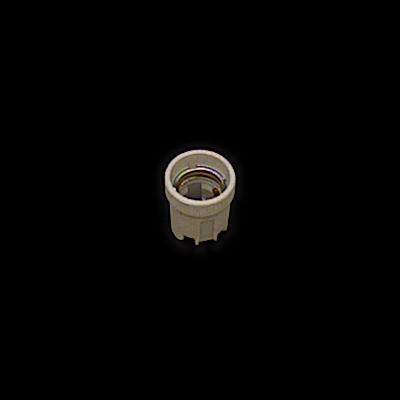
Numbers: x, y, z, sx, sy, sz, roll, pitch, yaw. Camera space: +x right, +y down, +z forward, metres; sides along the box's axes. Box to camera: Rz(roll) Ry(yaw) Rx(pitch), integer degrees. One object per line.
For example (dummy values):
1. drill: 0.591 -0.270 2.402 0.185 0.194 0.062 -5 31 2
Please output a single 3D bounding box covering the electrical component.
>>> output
1. electrical component: 0.000 0.000 0.629 0.040 0.040 0.046 0 -38 -1
